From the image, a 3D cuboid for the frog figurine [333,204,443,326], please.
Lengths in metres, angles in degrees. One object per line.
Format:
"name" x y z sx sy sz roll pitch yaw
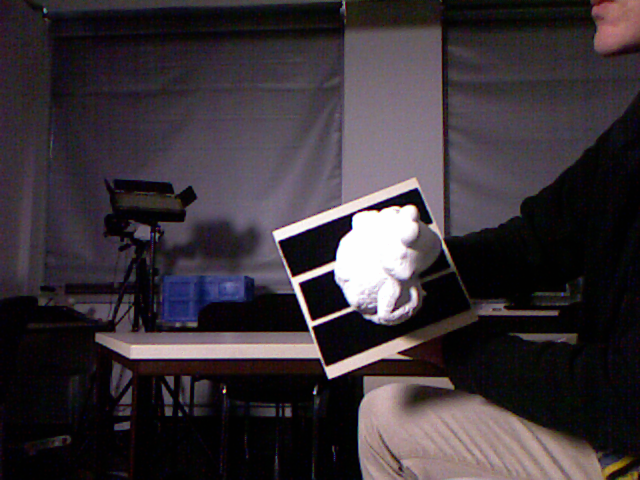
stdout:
"frog figurine" 0.076 0.028 0.587 0.123 0.139 0.158 -12 -11 -1
